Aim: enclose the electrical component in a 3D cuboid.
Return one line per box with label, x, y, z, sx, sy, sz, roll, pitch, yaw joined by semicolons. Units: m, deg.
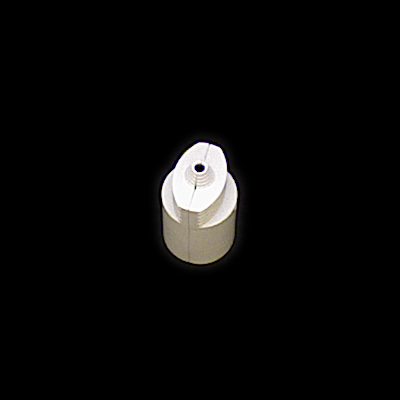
electrical component;0.000;0.000;0.617;0.043;0.043;0.081;0;-27;0
